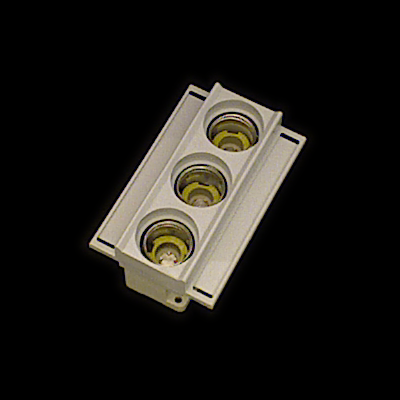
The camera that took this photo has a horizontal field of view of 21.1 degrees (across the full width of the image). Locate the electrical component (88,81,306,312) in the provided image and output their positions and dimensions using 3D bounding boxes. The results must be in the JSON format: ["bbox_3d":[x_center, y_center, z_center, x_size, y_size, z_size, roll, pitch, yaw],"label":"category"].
[{"bbox_3d":[0.000,0.000,0.638,0.078,0.121,0.063,26,-24,11],"label":"electrical component"}]
